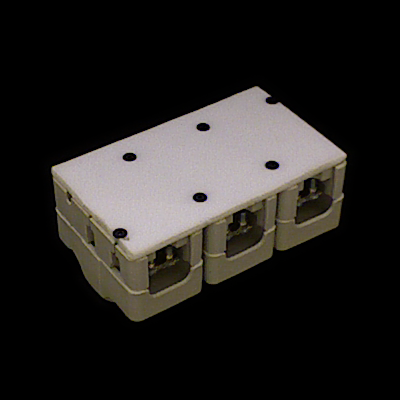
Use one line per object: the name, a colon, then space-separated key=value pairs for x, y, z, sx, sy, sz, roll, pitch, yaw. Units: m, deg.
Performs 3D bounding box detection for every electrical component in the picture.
electrical component: x=0.000 y=0.000 z=0.639 sx=0.149 sy=0.063 sz=0.088 roll=-24 pitch=47 yaw=-26
